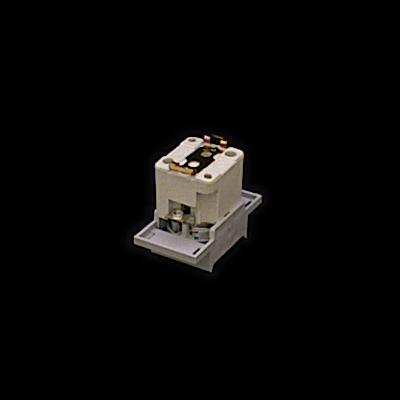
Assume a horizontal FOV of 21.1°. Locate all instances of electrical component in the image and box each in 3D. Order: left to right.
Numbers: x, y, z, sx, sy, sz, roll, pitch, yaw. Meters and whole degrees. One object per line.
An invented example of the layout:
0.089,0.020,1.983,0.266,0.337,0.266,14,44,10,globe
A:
0.000,0.000,0.633,0.042,0.064,0.080,17,35,25,electrical component
